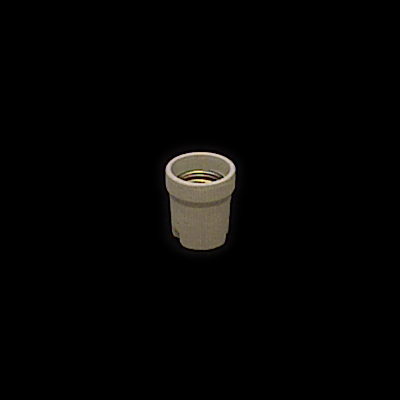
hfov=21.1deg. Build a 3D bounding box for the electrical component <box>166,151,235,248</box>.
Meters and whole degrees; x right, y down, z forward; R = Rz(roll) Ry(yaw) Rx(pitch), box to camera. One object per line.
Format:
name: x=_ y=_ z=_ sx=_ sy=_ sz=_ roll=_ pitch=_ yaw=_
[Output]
electrical component: x=0.000 y=0.000 z=0.636 sx=0.040 sy=0.047 sz=0.039 roll=1 pitch=32 yaw=0
